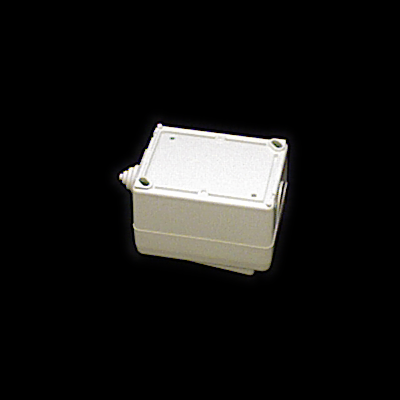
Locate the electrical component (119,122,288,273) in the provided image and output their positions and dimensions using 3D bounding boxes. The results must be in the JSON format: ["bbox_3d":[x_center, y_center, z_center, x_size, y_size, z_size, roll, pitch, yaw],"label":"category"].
[{"bbox_3d":[0.000,0.000,0.630,0.096,0.061,0.061,8,43,8],"label":"electrical component"}]
